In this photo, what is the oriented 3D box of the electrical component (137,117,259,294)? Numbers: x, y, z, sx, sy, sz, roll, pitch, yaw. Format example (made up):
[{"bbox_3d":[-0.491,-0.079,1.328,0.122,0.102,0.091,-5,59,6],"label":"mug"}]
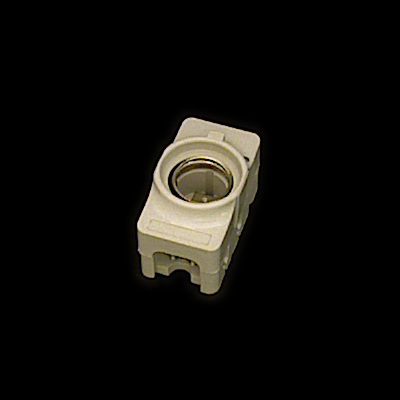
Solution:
[{"bbox_3d":[0.000,0.000,0.637,0.050,0.089,0.056,14,-36,10],"label":"electrical component"}]
